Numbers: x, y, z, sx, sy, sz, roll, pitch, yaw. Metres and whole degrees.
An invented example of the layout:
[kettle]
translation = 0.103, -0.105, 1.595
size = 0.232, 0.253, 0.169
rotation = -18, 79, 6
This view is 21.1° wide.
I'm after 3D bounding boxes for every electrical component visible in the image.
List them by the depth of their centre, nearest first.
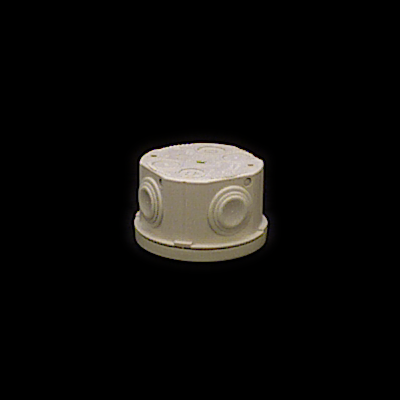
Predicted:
[electrical component]
translation = 0.000, 0.000, 0.641
size = 0.080, 0.051, 0.079
rotation = 0, 21, 0
